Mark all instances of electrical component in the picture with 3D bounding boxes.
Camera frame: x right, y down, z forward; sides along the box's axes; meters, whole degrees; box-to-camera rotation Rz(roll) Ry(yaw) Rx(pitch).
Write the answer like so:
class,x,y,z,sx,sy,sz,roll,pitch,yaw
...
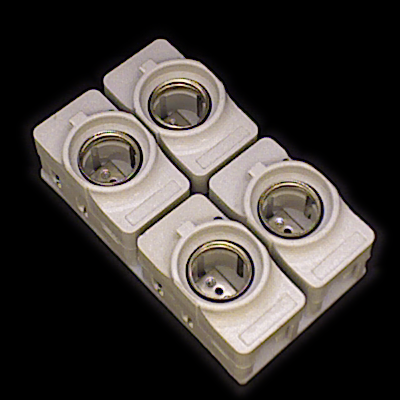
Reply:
class,x,y,z,sx,sy,sz,roll,pitch,yaw
electrical component,0.000,0.000,0.625,0.106,0.186,0.060,-39,-21,-18
